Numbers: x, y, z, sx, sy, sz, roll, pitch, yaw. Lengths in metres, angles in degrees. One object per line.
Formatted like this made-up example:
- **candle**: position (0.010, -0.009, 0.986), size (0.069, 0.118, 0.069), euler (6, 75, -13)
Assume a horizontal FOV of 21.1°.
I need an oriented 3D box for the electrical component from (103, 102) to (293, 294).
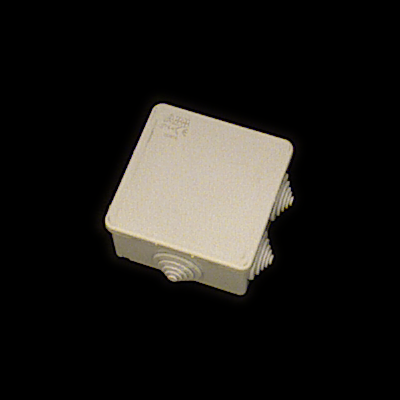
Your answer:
- **electrical component**: position (0.000, 0.000, 0.640), size (0.099, 0.100, 0.048), euler (18, -25, 8)
